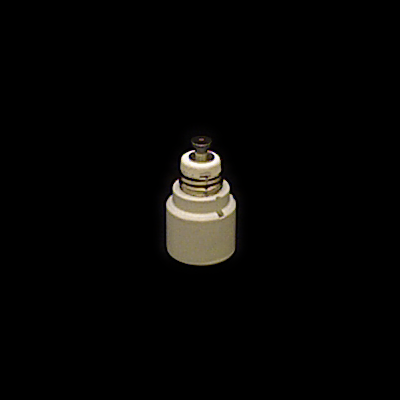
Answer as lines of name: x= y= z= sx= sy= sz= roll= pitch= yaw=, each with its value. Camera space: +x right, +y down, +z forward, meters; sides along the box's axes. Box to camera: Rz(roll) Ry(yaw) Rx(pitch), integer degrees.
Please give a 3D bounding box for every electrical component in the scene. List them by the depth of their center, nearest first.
electrical component: x=0.000 y=0.000 z=0.628 sx=0.040 sy=0.079 sz=0.039 roll=0 pitch=31 yaw=0
